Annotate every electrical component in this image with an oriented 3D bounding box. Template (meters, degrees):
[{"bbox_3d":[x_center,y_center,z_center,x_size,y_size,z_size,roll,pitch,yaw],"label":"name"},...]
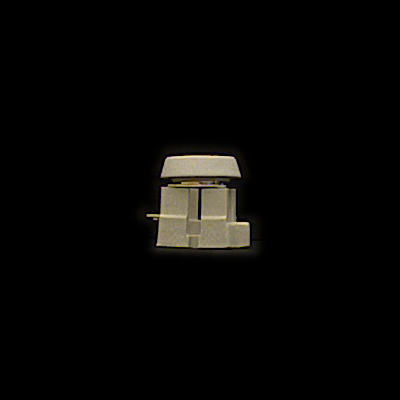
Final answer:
[{"bbox_3d":[0.000,0.000,0.656,0.066,0.055,0.048,2,0,10],"label":"electrical component"}]
